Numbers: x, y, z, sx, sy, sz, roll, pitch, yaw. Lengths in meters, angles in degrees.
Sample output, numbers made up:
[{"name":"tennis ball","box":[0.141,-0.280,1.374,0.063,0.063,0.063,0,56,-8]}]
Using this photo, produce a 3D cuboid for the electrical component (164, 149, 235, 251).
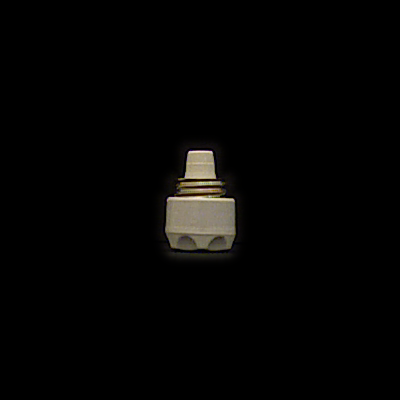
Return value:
[{"name":"electrical component","box":[0.000,0.000,0.657,0.043,0.062,0.043,0,1,1]}]
